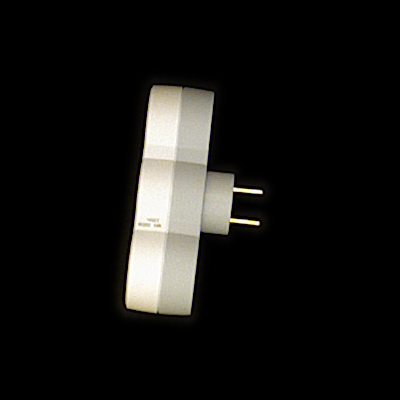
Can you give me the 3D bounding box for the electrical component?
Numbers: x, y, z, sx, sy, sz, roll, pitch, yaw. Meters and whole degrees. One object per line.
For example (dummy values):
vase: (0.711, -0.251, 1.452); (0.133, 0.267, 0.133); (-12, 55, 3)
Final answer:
electrical component: (0.000, 0.000, 0.637); (0.074, 0.139, 0.052); (6, -16, 0)
